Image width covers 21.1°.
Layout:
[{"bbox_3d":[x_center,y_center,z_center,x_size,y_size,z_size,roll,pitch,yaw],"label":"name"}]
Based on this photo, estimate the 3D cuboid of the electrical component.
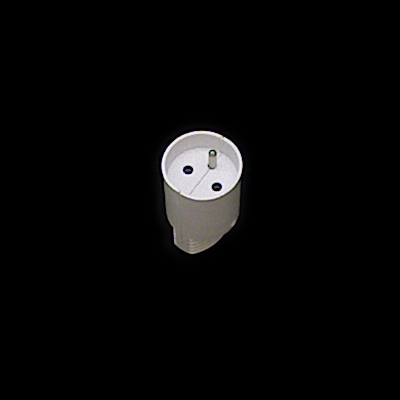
[{"bbox_3d":[0.000,0.000,0.617,0.043,0.043,0.081,0,-28,-1],"label":"electrical component"}]
